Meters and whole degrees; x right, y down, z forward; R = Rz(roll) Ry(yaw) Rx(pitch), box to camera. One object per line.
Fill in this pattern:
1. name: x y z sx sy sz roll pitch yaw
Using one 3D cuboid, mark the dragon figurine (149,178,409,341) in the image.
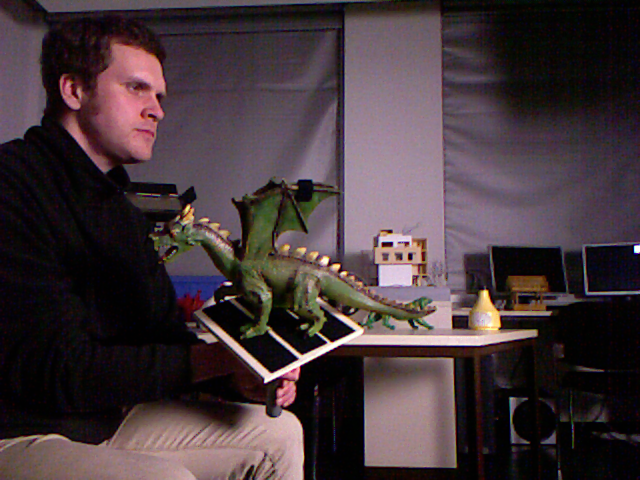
1. dragon figurine: -0.047 0.024 0.798 0.411 0.238 0.125 0 31 -9
